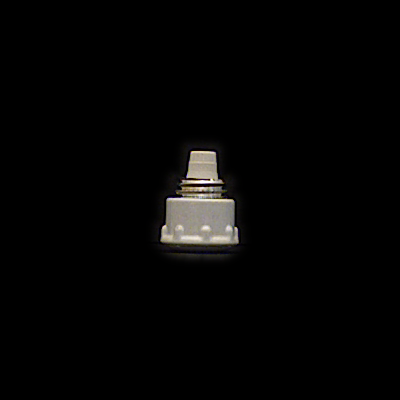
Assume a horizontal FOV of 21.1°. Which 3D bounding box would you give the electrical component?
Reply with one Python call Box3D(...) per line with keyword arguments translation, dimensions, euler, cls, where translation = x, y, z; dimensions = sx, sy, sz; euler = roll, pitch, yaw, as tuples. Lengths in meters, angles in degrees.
Box3D(translation=(0.000, 0.000, 0.658), dimensions=(0.048, 0.062, 0.048), euler=(2, 2, 0), cls="electrical component")
